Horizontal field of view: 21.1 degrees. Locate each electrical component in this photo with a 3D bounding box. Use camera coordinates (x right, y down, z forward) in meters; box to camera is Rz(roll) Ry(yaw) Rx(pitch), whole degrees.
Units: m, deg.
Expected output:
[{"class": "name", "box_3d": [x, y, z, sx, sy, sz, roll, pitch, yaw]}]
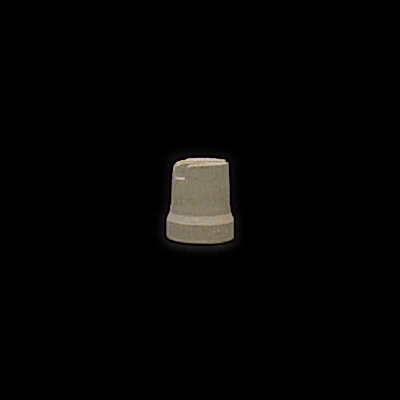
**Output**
[{"class": "electrical component", "box_3d": [0.000, 0.000, 0.646, 0.040, 0.046, 0.040, 2, 11, 0]}]
